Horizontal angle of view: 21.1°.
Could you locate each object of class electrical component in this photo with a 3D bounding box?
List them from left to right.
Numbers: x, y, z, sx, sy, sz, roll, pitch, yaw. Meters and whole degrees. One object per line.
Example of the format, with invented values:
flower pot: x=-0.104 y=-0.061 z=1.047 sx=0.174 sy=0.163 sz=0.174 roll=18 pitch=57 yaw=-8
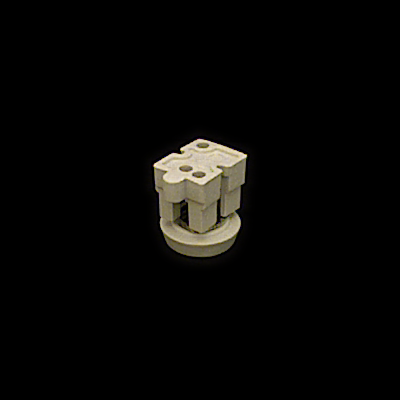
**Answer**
electrical component: x=0.000 y=0.000 z=0.642 sx=0.048 sy=0.056 sz=0.066 roll=21 pitch=37 yaw=31
